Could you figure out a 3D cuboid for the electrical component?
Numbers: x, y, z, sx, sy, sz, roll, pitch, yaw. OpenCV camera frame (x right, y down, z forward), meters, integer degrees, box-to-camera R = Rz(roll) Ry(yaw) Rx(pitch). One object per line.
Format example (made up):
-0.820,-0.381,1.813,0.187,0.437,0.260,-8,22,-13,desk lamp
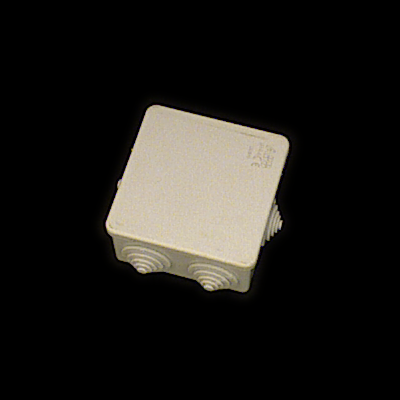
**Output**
0.000,0.000,0.640,0.099,0.100,0.048,15,-26,7,electrical component
